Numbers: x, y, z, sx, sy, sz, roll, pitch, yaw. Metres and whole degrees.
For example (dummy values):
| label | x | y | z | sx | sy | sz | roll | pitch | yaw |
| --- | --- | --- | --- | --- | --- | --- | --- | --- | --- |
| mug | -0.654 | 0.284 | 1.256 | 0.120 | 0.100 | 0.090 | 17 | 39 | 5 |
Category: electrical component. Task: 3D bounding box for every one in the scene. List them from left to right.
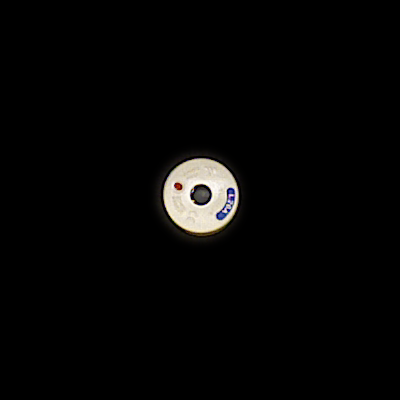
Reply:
| label | x | y | z | sx | sy | sz | roll | pitch | yaw |
| --- | --- | --- | --- | --- | --- | --- | --- | --- | --- |
| electrical component | 0.000 | 0.000 | 0.618 | 0.040 | 0.040 | 0.078 | 0 | -6 | 1 |
